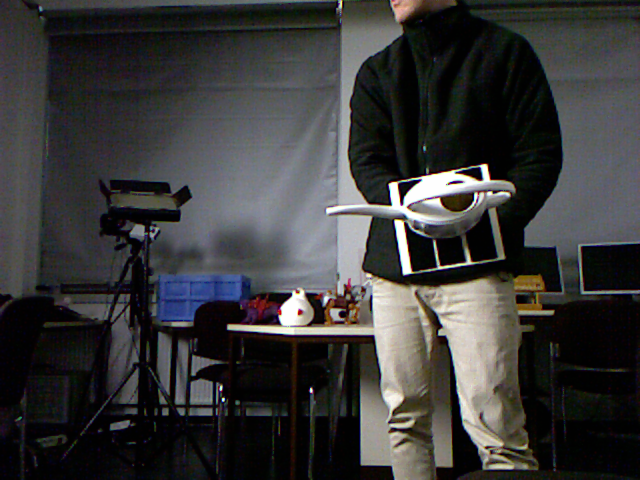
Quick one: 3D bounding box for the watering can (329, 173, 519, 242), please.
[{"bbox_3d":[0.202,-0.062,1.009,0.348,0.106,0.222,-7,-15,8],"label":"watering can"}]
